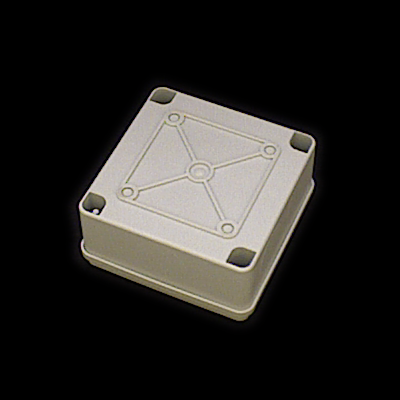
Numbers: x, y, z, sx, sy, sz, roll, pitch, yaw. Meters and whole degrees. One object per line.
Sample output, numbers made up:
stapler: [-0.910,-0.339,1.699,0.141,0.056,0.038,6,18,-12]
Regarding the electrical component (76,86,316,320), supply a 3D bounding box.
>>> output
electrical component: [0.000,0.000,0.628,0.108,0.109,0.056,20,-35,15]
